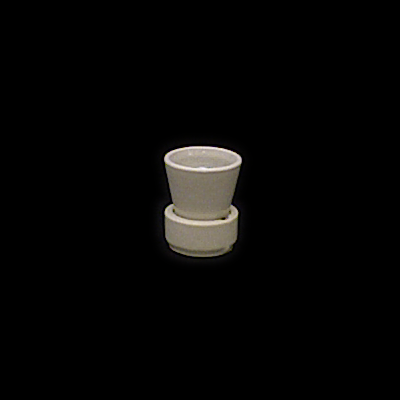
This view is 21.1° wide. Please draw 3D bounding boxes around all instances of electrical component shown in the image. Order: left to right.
[{"bbox_3d":[0.000,0.000,0.641,0.045,0.056,0.044,2,21,0],"label":"electrical component"}]
